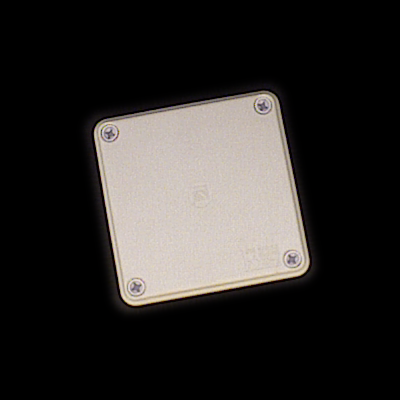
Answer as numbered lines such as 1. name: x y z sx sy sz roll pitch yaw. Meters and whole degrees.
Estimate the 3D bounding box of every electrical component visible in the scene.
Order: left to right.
1. electrical component: 0.000 0.000 0.631 0.109 0.109 0.056 -10 -7 -1
